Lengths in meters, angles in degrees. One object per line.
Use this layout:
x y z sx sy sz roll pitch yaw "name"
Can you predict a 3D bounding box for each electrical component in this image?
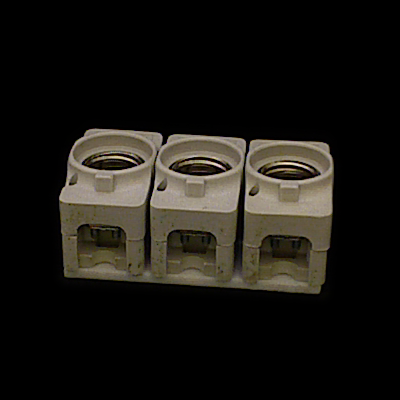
0.000 0.000 0.639 0.150 0.063 0.087 3 32 4 "electrical component"
